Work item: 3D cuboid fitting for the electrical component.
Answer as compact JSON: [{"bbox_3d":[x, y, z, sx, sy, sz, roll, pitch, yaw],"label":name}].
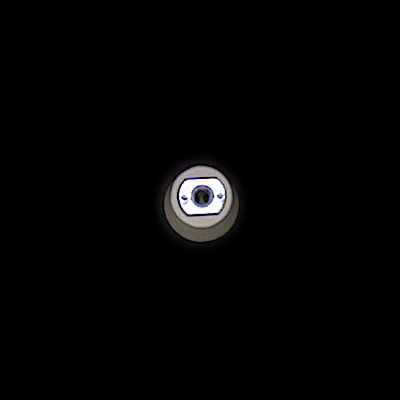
[{"bbox_3d":[0.000,0.000,0.625,0.044,0.044,0.065,0,-5,0],"label":"electrical component"}]
